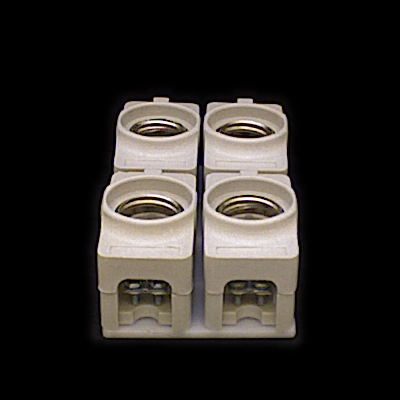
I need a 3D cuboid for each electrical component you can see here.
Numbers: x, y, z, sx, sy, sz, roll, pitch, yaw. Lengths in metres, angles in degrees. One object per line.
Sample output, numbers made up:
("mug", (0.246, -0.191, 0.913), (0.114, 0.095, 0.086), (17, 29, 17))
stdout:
("electrical component", (0.000, 0.000, 0.634), (0.105, 0.061, 0.184), (1, 31, 0))
